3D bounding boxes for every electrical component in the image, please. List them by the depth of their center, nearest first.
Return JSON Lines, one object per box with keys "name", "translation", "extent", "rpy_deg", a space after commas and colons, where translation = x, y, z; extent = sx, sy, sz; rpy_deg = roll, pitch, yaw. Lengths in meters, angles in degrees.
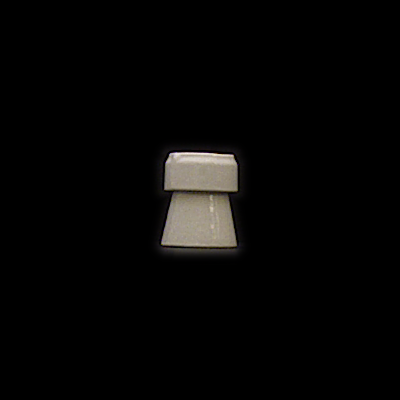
{"name": "electrical component", "translation": [0.000, 0.000, 0.649], "extent": [0.045, 0.055, 0.044], "rpy_deg": [1, 2, 0]}
